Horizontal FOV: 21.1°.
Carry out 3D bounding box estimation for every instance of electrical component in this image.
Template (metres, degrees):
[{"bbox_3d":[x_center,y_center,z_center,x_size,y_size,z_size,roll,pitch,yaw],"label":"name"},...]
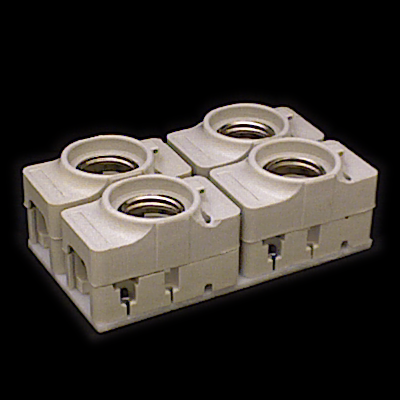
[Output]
[{"bbox_3d":[0.000,0.000,0.635,0.186,0.061,0.104,-15,35,-25],"label":"electrical component"}]
